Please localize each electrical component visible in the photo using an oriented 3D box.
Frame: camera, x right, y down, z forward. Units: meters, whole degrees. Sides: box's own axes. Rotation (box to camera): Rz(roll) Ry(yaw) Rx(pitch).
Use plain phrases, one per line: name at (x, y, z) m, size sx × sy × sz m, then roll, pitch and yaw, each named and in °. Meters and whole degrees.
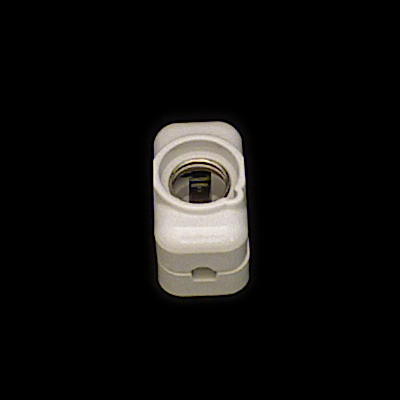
electrical component at (0.000, 0.000, 0.635) m, size 0.054 × 0.094 × 0.059 m, roll -2°, pitch -36°, yaw -1°
